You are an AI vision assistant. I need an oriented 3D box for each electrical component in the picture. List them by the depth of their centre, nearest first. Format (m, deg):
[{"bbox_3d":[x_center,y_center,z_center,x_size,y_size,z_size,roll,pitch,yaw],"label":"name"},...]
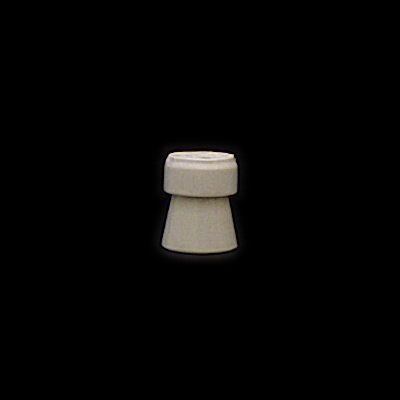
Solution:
[{"bbox_3d":[0.000,0.000,0.646,0.045,0.055,0.044,2,11,0],"label":"electrical component"}]
